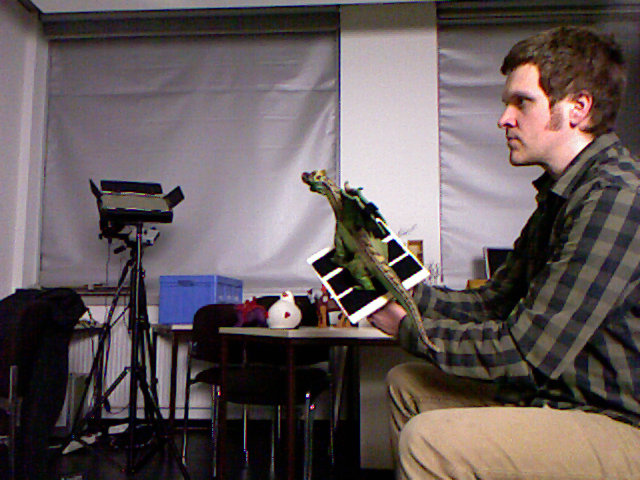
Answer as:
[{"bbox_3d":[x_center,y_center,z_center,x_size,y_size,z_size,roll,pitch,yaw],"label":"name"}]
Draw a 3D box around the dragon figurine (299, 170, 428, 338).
[{"bbox_3d":[0.092,0.003,1.058,0.123,0.418,0.238,-36,-29,-11],"label":"dragon figurine"}]
